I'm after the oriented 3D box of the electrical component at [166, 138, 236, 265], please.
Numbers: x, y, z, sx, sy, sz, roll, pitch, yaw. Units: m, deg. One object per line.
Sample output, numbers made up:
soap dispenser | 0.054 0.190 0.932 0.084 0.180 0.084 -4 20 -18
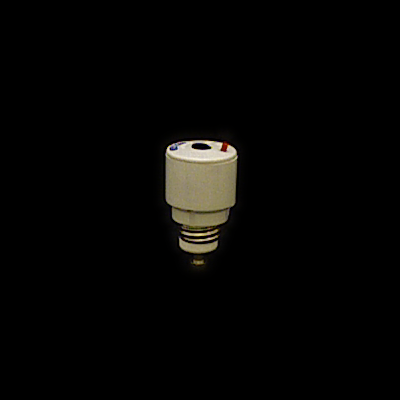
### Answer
electrical component | 0.000 0.000 0.634 0.040 0.079 0.039 1 21 -1
